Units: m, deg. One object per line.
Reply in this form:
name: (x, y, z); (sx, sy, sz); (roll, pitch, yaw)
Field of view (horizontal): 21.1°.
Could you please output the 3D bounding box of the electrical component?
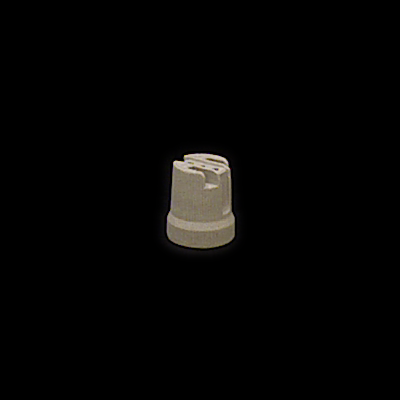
electrical component: (0.000, 0.000, 0.640); (0.040, 0.046, 0.040); (0, 22, 0)
